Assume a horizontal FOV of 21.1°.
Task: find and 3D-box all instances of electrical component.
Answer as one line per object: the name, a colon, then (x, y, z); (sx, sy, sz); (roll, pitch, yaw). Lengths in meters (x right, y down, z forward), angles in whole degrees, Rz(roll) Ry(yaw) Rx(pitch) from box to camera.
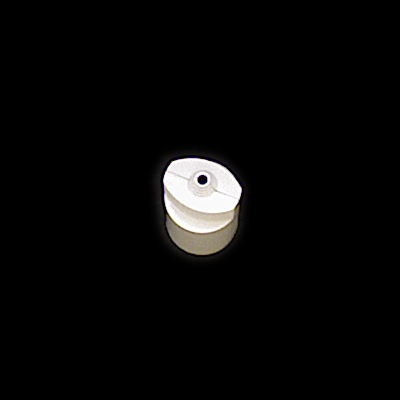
electrical component: (0.000, 0.000, 0.616); (0.043, 0.043, 0.080); (0, -17, 0)
